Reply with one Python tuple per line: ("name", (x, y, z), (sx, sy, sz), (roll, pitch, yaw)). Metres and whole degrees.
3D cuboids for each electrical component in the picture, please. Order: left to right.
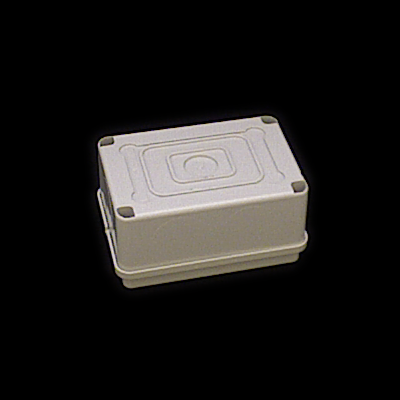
("electrical component", (0.000, 0.000, 0.631), (0.113, 0.057, 0.077), (-9, 43, -10))
